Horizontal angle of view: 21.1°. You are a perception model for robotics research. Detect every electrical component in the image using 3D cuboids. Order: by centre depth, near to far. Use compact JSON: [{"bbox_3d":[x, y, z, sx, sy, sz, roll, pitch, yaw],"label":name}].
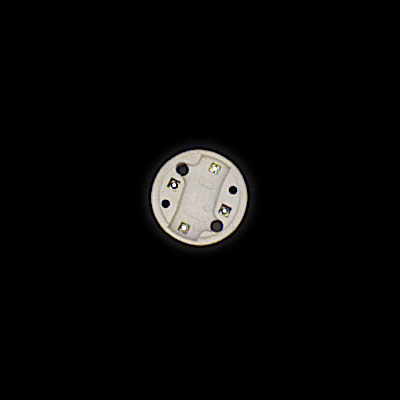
[{"bbox_3d":[0.000,0.000,0.635,0.055,0.056,0.047,0,-7,0],"label":"electrical component"}]
